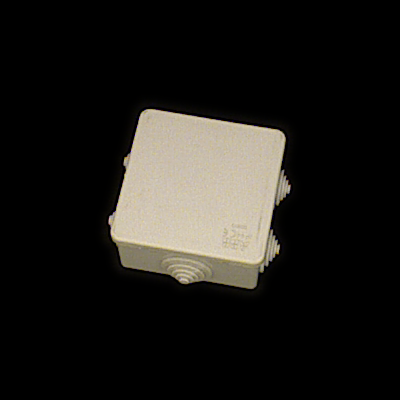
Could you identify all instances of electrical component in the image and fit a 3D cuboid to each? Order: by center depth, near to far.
[{"bbox_3d":[0.000,0.000,0.639,0.099,0.100,0.048,10,-26,4],"label":"electrical component"}]
